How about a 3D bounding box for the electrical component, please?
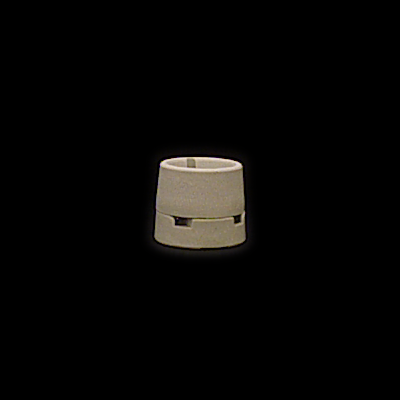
[{"bbox_3d":[0.000,0.000,0.644,0.055,0.047,0.055,1,12,0],"label":"electrical component"}]
